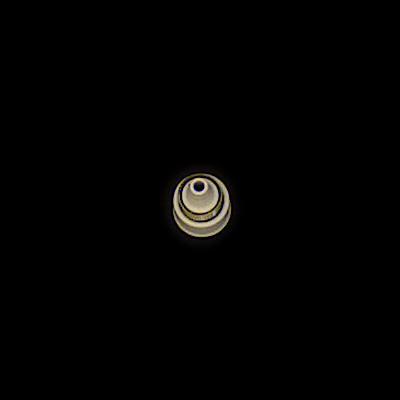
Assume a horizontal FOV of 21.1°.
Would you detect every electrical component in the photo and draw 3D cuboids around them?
[{"bbox_3d":[0.000,0.000,0.636,0.035,0.035,0.061,0,-16,3],"label":"electrical component"}]
